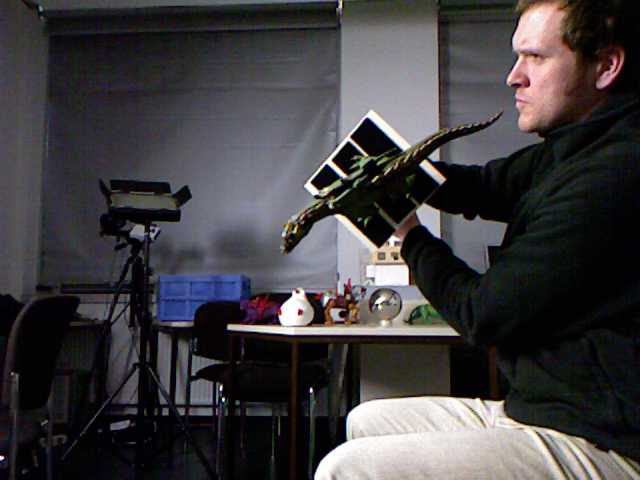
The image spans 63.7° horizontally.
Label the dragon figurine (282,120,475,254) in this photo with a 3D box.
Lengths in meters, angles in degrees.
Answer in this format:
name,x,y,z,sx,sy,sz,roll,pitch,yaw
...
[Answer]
name,x,y,z,sx,sy,sz,roll,pitch,yaw
dragon figurine,0.095,-0.107,0.913,0.409,0.123,0.245,-36,-2,14
